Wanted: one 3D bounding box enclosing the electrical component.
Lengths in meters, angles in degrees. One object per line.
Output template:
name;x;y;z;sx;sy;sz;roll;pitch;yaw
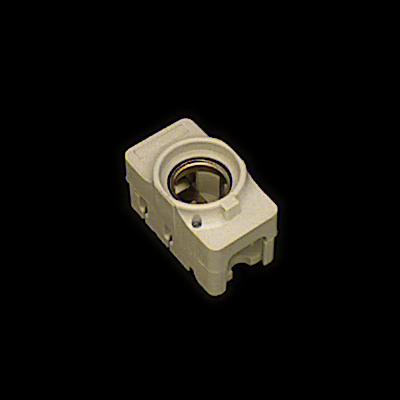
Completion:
electrical component;0.000;0.000;0.637;0.050;0.089;0.056;-32;-31;-22
